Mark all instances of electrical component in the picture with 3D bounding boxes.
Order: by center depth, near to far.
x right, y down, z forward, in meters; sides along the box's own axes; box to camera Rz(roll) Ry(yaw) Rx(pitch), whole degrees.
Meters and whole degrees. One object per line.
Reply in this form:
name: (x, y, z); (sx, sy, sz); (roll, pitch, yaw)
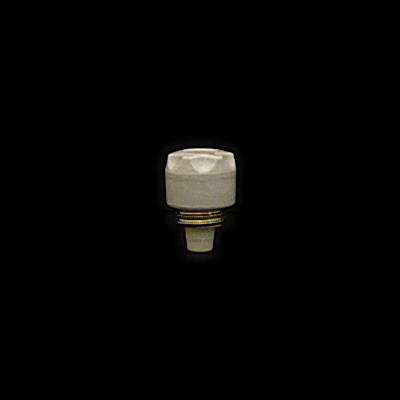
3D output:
electrical component: (0.000, 0.000, 0.651); (0.043, 0.062, 0.043); (1, 12, 0)
